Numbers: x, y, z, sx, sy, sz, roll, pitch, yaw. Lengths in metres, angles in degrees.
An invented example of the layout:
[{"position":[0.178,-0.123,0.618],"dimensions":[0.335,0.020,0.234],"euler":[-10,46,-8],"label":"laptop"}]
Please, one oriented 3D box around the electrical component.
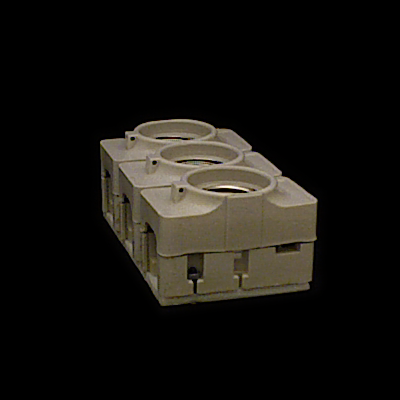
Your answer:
[{"position":[0.000,0.000,0.644],"dimensions":[0.089,0.063,0.147],"euler":[-6,21,-17],"label":"electrical component"}]
